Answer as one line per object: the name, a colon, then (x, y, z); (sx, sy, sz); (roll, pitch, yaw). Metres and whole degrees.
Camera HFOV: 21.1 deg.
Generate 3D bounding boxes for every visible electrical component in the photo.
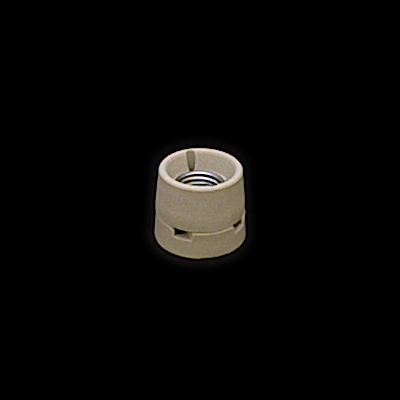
electrical component: (0.000, 0.000, 0.636); (0.055, 0.047, 0.055); (1, 33, 0)
